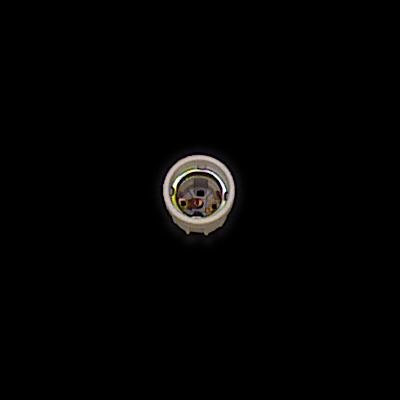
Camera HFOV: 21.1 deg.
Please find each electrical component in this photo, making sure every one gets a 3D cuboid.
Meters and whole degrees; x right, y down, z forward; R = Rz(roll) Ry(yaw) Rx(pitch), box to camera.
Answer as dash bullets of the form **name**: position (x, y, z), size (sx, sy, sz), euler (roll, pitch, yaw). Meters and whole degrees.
- **electrical component**: position (0.000, 0.000, 0.626), size (0.040, 0.040, 0.046), euler (0, -17, 0)
